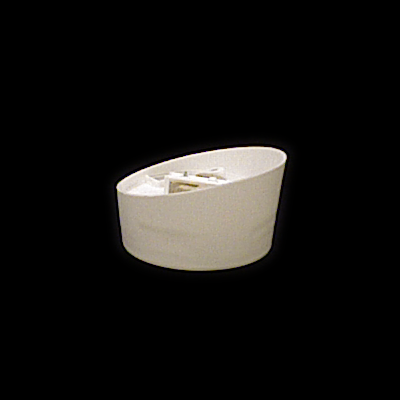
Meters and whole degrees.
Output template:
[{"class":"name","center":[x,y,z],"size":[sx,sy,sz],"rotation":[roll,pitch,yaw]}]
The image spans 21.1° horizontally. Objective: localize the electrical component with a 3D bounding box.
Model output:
[{"class":"electrical component","center":[0.000,0.000,0.638],"size":[0.099,0.065,0.097],"rotation":[2,20,-1]}]
